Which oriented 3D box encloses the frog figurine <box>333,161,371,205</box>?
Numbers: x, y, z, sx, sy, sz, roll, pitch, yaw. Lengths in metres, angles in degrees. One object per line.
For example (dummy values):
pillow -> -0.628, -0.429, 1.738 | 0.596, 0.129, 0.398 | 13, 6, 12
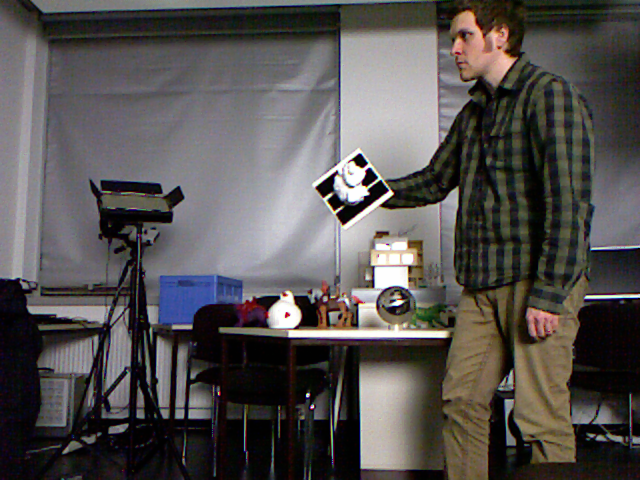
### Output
frog figurine -> 0.098, -0.187, 1.704 | 0.122, 0.139, 0.159 | -20, -11, 8
